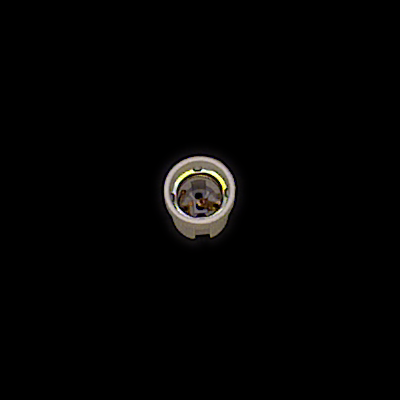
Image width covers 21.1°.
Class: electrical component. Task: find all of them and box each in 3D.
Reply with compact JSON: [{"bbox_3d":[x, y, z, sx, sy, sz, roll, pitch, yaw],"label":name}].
[{"bbox_3d":[0.000,0.000,0.628,0.040,0.040,0.046,0,-17,0],"label":"electrical component"}]
